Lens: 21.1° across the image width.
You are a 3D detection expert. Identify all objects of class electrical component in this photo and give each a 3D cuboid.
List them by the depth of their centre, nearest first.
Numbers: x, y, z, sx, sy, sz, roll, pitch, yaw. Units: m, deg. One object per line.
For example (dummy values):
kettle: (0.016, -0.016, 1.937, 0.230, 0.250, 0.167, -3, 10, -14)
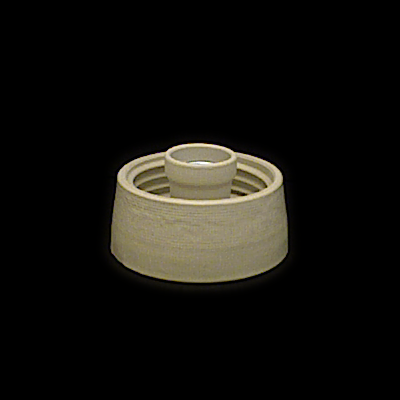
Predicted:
electrical component: (0.000, 0.000, 0.644, 0.108, 0.061, 0.106, 1, 21, 0)
